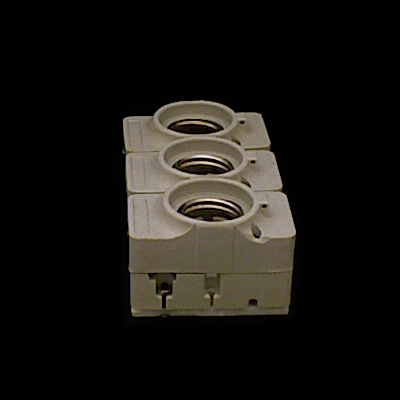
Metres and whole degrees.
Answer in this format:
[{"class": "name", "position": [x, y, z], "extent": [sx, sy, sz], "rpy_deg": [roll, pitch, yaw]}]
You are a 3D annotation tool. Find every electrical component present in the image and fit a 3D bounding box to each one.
[{"class": "electrical component", "position": [0.000, 0.000, 0.641], "extent": [0.089, 0.063, 0.146], "rpy_deg": [-1, 31, -5]}]
